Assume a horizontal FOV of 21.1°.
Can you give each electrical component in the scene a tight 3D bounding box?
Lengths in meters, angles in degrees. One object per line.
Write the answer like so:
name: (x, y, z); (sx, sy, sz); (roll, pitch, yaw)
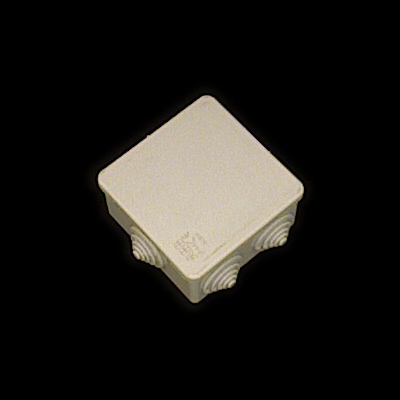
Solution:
electrical component: (0.000, 0.000, 0.639); (0.100, 0.099, 0.048); (-38, -20, -17)
